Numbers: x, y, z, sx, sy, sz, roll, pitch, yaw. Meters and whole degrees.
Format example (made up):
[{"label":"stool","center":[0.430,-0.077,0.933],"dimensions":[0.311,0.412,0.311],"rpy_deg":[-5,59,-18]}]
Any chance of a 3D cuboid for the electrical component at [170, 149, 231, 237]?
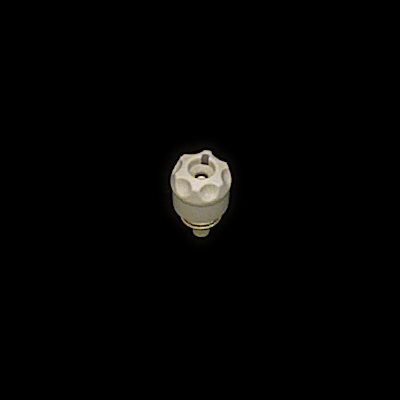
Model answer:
[{"label":"electrical component","center":[0.000,0.000,0.636],"dimensions":[0.035,0.035,0.062],"rpy_deg":[0,-37,0]}]
